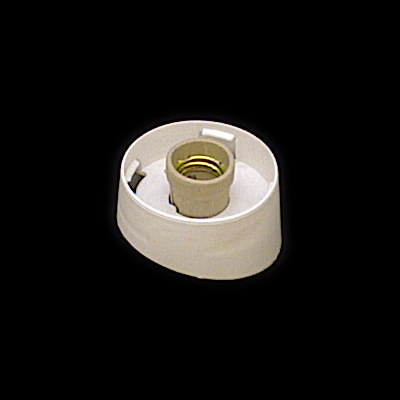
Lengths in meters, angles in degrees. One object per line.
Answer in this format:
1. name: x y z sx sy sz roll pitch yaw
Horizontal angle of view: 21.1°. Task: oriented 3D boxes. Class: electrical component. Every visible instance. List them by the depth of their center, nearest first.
1. electrical component: 0.000 0.000 0.629 0.099 0.064 0.098 1 42 0
